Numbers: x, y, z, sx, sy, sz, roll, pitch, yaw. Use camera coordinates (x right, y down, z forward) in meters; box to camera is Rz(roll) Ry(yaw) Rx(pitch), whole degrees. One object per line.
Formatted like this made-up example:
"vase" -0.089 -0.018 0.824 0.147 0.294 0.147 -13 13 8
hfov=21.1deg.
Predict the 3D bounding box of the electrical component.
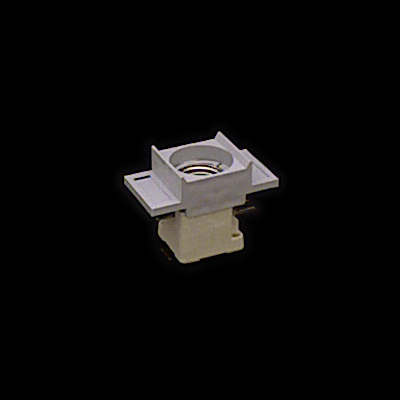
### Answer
"electrical component" 0.000 0.000 0.634 0.081 0.064 0.041 -13 33 -21
